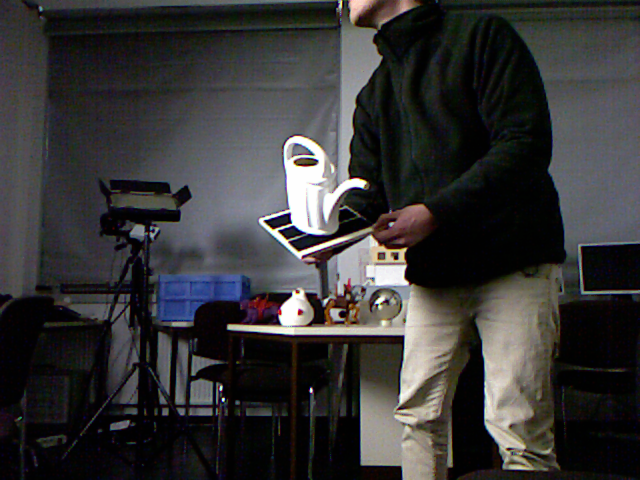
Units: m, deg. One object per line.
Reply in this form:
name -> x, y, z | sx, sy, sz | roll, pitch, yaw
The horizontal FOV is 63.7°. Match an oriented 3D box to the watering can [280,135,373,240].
watering can -> 0.003, -0.097, 1.098 | 0.105, 0.220, 0.353 | -20, 34, -23
